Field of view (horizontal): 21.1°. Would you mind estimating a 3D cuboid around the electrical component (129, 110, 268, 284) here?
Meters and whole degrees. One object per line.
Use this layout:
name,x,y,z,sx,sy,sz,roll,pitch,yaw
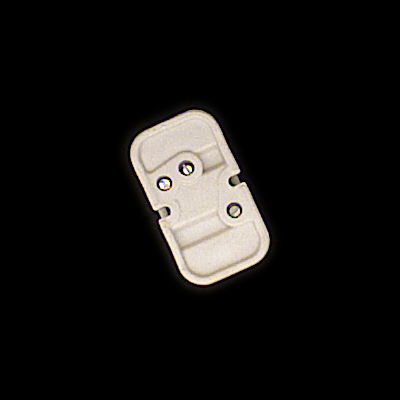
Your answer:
electrical component,0.000,0.000,0.636,0.054,0.095,0.059,-24,-5,-2
